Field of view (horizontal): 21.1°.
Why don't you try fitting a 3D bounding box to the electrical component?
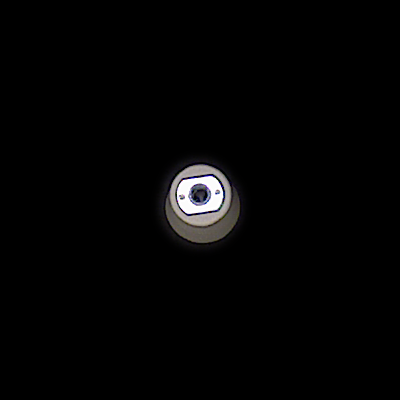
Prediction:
[{"bbox_3d":[0.000,0.000,0.626,0.044,0.044,0.065,0,-7,1],"label":"electrical component"}]
